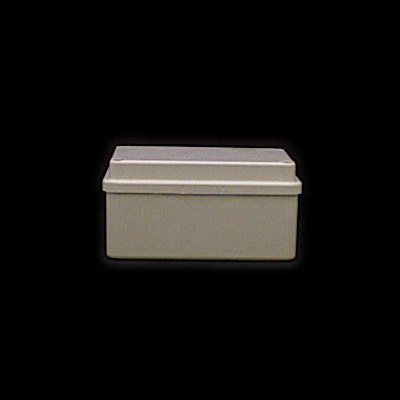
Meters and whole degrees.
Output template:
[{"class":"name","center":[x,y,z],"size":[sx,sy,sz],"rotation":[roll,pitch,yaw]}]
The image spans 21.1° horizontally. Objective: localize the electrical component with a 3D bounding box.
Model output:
[{"class":"electrical component","center":[0.000,0.000,0.646],"size":[0.113,0.057,0.077],"rotation":[1,10,-2]}]
